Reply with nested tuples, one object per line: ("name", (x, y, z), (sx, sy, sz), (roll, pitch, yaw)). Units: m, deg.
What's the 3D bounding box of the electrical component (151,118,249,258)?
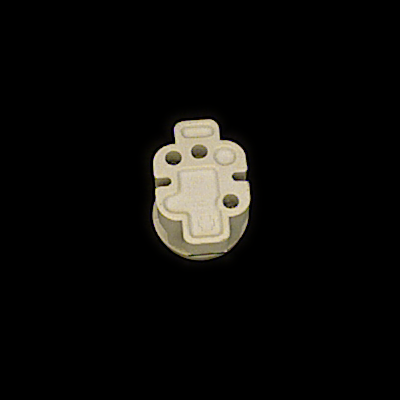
("electrical component", (0.000, 0.000, 0.635), (0.058, 0.078, 0.056), (-5, -25, -3))
